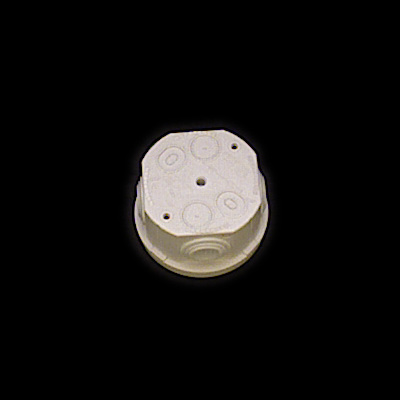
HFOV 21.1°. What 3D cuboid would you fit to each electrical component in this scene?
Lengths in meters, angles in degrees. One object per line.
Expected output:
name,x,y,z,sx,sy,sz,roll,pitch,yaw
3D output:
electrical component,0.000,0.000,0.631,0.080,0.080,0.050,0,-27,0
